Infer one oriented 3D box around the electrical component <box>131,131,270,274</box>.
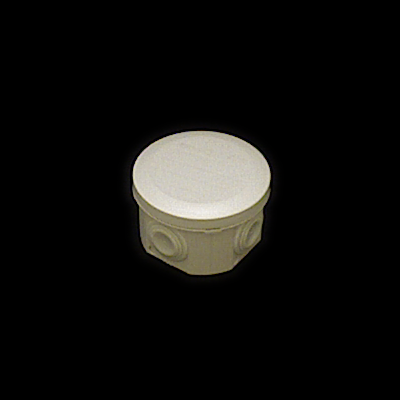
[{"bbox_3d":[0.000,0.000,0.633,0.080,0.051,0.079,1,42,0],"label":"electrical component"}]
